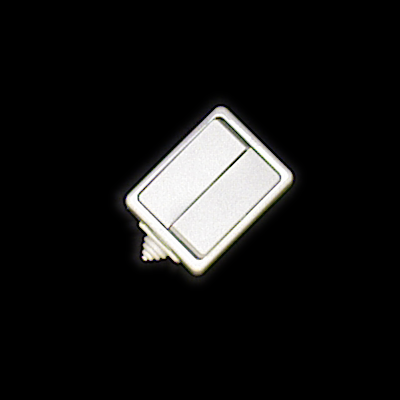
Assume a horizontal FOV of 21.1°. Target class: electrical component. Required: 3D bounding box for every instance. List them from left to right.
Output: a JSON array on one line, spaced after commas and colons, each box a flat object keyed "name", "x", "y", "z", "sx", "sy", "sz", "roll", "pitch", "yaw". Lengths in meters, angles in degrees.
[{"name": "electrical component", "x": 0.000, "y": 0.000, "z": 0.626, "sx": 0.096, "sy": 0.062, "sz": 0.061, "roll": -44, "pitch": -5, "yaw": -5}]
